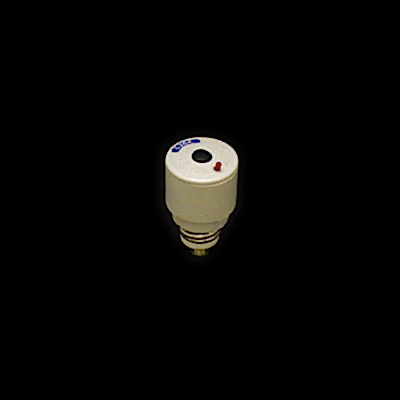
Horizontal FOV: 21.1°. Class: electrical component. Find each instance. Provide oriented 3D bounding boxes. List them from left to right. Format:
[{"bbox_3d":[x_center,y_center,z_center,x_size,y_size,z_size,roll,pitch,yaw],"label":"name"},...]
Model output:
[{"bbox_3d":[0.000,0.000,0.622,0.040,0.079,0.039,1,42,-1],"label":"electrical component"}]
